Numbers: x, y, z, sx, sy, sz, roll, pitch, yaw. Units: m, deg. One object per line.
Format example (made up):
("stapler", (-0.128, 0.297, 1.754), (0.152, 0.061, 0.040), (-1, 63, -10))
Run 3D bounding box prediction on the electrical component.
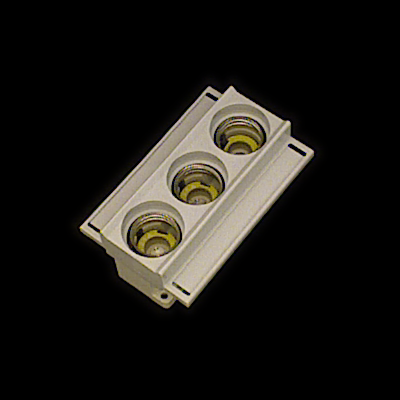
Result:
("electrical component", (0.000, 0.000, 0.637), (0.078, 0.121, 0.063), (34, -22, 18))
